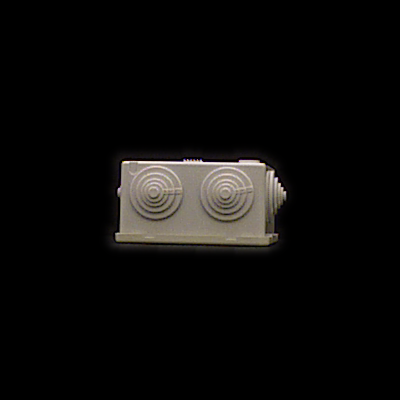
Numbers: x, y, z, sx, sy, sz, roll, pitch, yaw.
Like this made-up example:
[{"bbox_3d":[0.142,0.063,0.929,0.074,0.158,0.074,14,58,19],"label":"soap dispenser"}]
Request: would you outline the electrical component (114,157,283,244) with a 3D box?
[{"bbox_3d":[0.000,0.000,0.649,0.099,0.048,0.100,1,0,7],"label":"electrical component"}]
